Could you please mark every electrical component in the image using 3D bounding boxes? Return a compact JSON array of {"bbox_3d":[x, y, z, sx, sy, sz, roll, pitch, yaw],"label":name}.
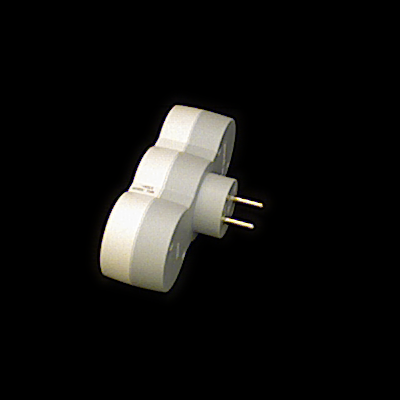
[{"bbox_3d":[0.000,0.000,0.639,0.073,0.052,0.138,14,44,12],"label":"electrical component"}]
